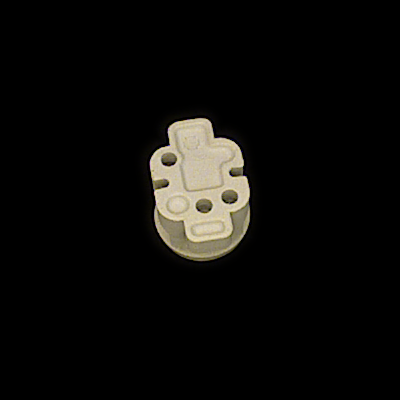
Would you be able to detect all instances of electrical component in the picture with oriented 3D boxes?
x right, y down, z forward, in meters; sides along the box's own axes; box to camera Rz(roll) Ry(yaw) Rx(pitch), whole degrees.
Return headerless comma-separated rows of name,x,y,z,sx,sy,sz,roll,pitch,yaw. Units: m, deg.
electrical component,0.000,0.000,0.636,0.058,0.078,0.057,-10,-27,-4
